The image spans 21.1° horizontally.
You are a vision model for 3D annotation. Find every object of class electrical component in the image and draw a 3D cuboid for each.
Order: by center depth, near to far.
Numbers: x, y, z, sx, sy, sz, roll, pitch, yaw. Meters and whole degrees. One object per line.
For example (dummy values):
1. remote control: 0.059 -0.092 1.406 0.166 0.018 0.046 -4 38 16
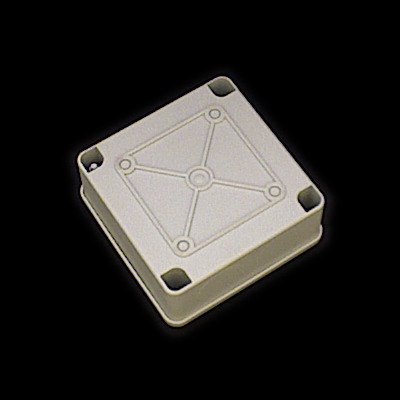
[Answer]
1. electrical component: 0.000 0.000 0.627 0.109 0.108 0.056 -30 -23 -14
